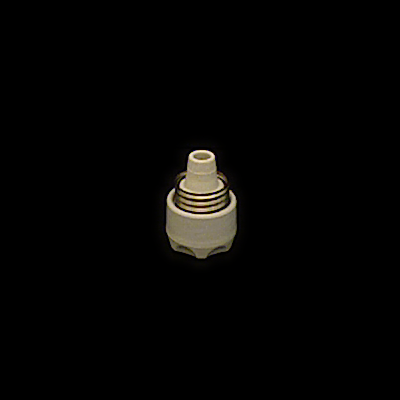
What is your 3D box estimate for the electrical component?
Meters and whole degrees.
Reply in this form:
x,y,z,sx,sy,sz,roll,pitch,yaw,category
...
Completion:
x,y,z,sx,sy,sz,roll,pitch,yaw,category
0.000,0.000,0.642,0.043,0.063,0.043,1,31,0,electrical component
